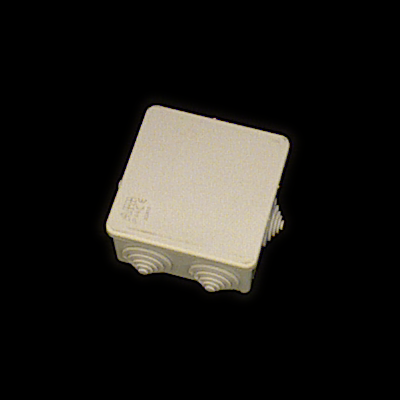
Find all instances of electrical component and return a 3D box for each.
[{"bbox_3d":[0.000,0.000,0.639,0.099,0.100,0.048,14,-26,7],"label":"electrical component"}]
